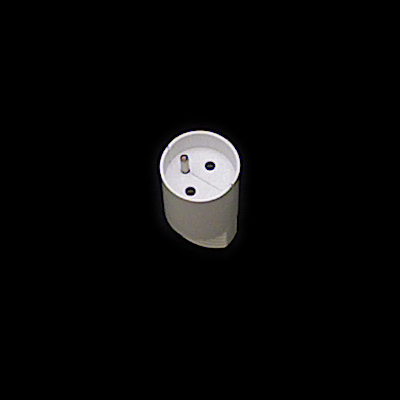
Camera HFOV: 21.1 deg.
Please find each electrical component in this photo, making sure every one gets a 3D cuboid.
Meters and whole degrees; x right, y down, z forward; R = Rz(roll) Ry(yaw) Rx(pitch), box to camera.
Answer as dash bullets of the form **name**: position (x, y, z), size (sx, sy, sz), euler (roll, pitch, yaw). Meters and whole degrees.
- **electrical component**: position (0.000, 0.000, 0.616), size (0.043, 0.043, 0.081), euler (0, -28, 1)
